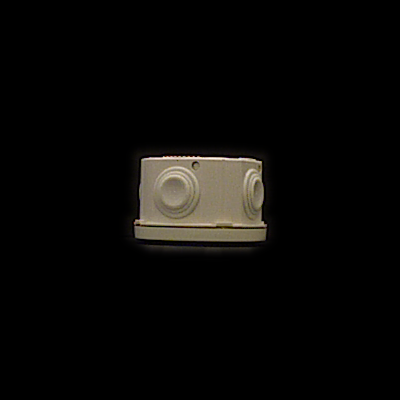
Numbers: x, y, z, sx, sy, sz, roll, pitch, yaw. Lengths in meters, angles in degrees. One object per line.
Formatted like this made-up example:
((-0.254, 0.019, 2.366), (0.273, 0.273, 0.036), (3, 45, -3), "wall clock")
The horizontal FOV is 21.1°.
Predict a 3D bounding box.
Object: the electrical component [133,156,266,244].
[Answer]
((0.000, 0.000, 0.649), (0.080, 0.051, 0.080), (1, 1, 0), "electrical component")
